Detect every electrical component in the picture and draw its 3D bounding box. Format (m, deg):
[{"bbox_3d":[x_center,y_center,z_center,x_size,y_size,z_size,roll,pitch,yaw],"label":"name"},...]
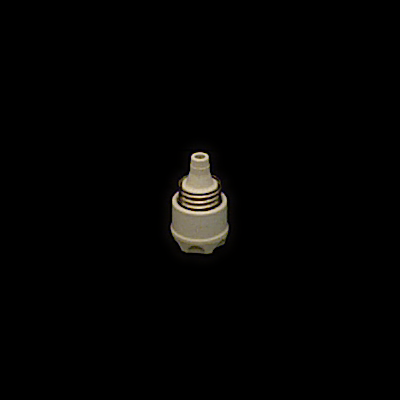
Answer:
[{"bbox_3d":[0.000,0.000,0.645,0.035,0.062,0.034,1,31,0],"label":"electrical component"}]
